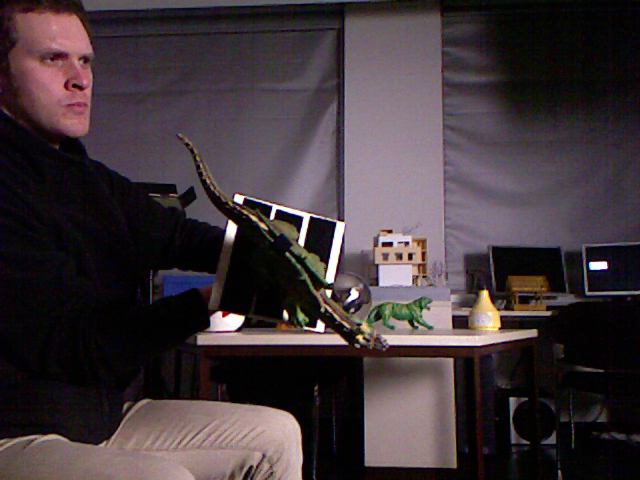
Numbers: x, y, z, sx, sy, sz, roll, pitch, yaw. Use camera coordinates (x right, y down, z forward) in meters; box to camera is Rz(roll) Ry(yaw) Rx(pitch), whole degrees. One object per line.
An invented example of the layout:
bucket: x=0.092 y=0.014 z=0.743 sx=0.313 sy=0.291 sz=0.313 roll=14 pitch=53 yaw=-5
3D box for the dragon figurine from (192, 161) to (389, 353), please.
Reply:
dragon figurine: x=-0.055 y=0.021 z=0.771 sx=0.124 sy=0.411 sz=0.242 roll=-45 pitch=6 yaw=-14
